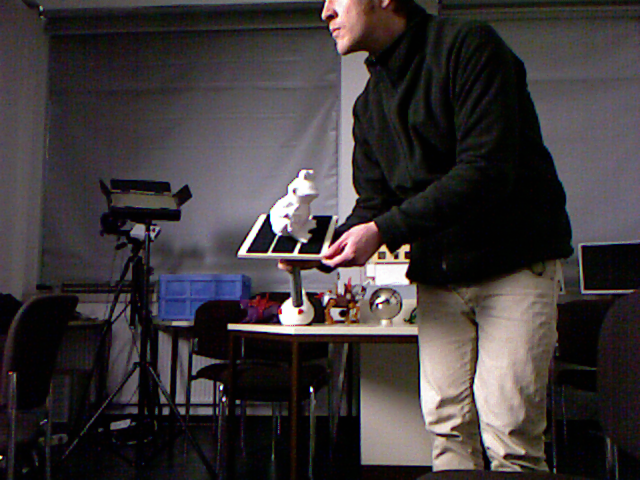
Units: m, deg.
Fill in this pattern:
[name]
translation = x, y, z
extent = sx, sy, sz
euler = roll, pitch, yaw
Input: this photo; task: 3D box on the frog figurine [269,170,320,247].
[frog figurine]
translation = -0.060, -0.084, 1.192
extent = 0.123, 0.156, 0.140
euler = 16, 34, 31
